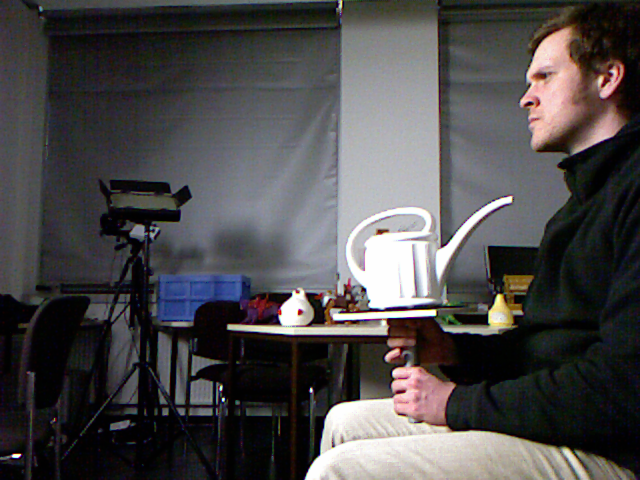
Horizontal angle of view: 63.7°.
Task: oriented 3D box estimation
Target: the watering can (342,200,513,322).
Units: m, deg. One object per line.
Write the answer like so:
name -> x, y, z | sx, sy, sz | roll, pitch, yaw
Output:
watering can -> 0.193, 0.042, 0.966 | 0.346, 0.225, 0.104 | -8, -4, 34
